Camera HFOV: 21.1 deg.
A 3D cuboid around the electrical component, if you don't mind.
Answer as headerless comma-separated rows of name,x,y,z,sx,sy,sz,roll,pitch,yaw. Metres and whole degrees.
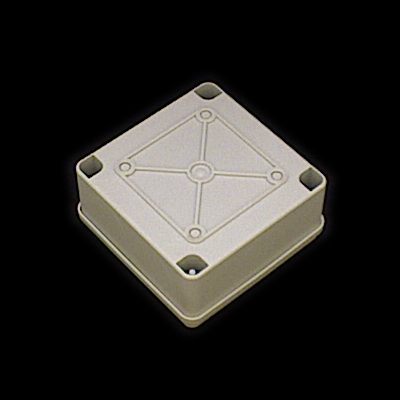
electrical component,0.000,0.000,0.627,0.109,0.108,0.056,-35,-29,-23
